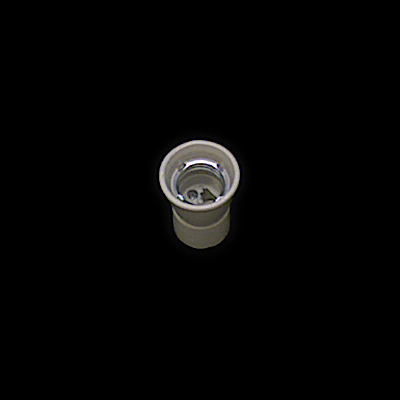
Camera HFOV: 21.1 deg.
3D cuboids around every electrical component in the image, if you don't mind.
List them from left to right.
[{"bbox_3d":[0.000,0.000,0.625,0.044,0.044,0.065,0,-28,1],"label":"electrical component"}]
